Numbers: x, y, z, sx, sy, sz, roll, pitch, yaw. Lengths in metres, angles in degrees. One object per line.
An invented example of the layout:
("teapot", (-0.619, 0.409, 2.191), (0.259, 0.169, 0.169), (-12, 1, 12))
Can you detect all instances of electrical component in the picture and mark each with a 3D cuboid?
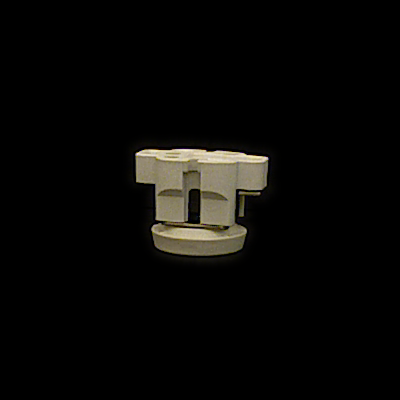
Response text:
("electrical component", (0.000, 0.000, 0.652), (0.078, 0.057, 0.057), (5, 11, 10))
